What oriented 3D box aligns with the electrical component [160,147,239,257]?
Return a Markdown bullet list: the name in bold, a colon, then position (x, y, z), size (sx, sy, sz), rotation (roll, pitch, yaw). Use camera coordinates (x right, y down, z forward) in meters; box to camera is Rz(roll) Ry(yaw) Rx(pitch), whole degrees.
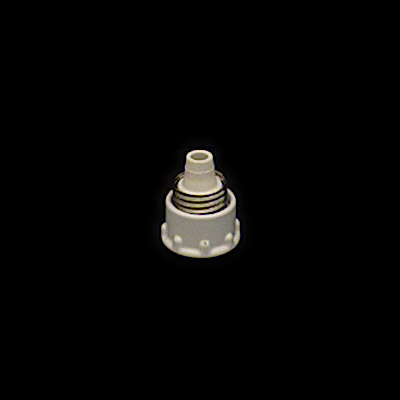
- **electrical component**: position (0.000, 0.000, 0.641), size (0.048, 0.063, 0.047), rotation (0, 31, 1)
